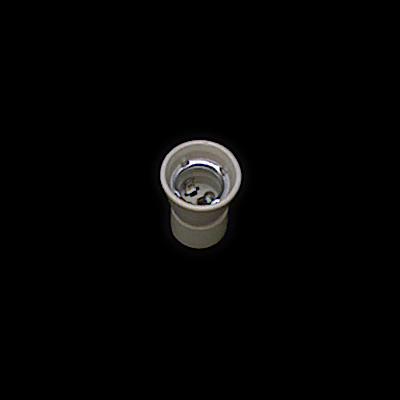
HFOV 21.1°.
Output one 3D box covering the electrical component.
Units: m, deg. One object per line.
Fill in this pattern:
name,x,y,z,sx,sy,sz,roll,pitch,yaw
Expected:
electrical component,0.000,0.000,0.625,0.044,0.044,0.065,0,-28,-1
